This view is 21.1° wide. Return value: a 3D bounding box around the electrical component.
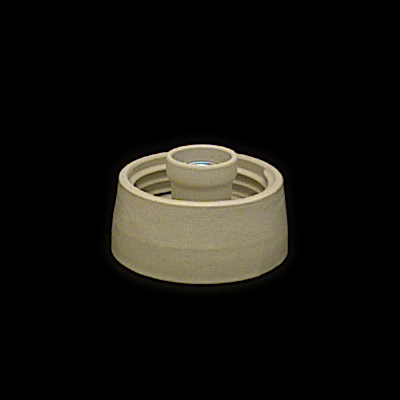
[{"bbox_3d":[0.000,0.000,0.645,0.108,0.061,0.106,1,21,0],"label":"electrical component"}]
